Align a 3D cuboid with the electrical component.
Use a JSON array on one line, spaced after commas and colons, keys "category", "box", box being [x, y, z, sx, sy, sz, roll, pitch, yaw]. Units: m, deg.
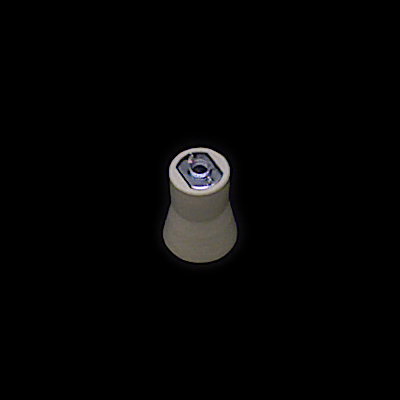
[{"category": "electrical component", "box": [0.000, 0.000, 0.626, 0.044, 0.044, 0.065, 0, -37, 1]}]
